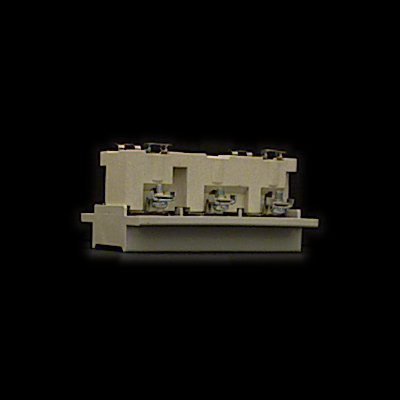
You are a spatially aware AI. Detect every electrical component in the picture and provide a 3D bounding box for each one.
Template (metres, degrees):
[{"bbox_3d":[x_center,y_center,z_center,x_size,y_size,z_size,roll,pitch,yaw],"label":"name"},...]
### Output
[{"bbox_3d":[0.000,0.000,0.655,0.122,0.063,0.078,1,1,-31],"label":"electrical component"}]
